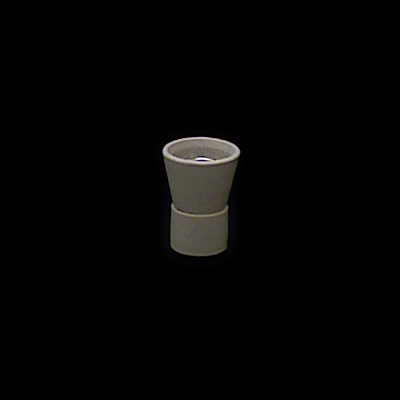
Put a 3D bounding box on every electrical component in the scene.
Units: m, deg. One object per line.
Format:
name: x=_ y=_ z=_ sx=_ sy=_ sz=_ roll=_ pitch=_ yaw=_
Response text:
electrical component: x=0.000 y=0.000 z=0.636 sx=0.044 sy=0.066 sz=0.044 roll=2 pitch=22 yaw=-1
